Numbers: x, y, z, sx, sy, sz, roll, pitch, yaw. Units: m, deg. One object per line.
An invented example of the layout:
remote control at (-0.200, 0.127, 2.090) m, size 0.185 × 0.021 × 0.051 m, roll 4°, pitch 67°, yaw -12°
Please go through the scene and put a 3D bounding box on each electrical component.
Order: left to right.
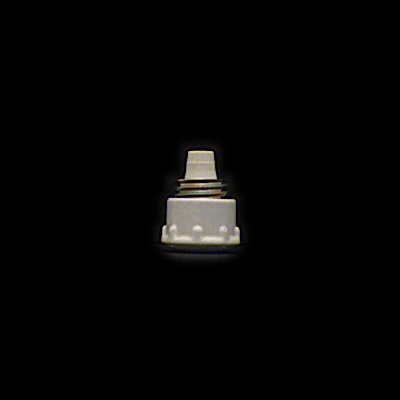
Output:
electrical component at (0.000, 0.000, 0.655) m, size 0.048 × 0.062 × 0.048 m, roll 0°, pitch 1°, yaw 1°
